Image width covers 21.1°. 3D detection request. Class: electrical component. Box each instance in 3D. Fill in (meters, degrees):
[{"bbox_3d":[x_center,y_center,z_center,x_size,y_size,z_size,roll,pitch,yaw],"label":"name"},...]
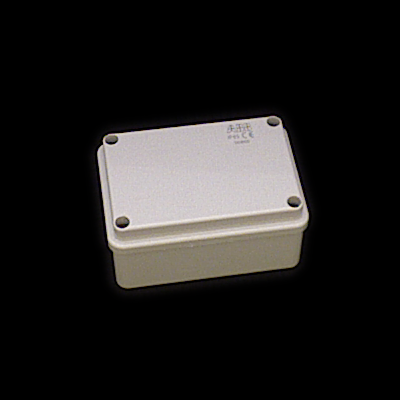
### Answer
[{"bbox_3d":[0.000,0.000,0.630,0.113,0.077,0.057,-7,-37,-6],"label":"electrical component"}]
